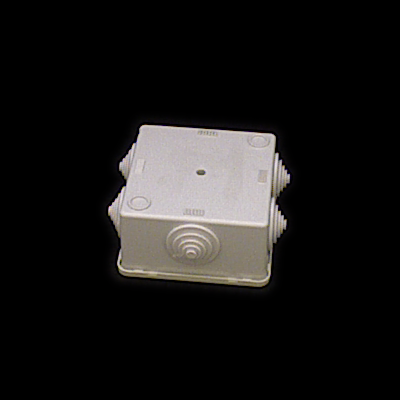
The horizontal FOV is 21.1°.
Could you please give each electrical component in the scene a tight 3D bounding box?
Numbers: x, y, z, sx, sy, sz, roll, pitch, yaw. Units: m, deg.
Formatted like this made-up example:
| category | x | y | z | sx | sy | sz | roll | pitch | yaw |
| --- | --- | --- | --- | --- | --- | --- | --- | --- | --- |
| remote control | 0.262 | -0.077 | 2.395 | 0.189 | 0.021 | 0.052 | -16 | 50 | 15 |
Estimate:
| category | x | y | z | sx | sy | sz | roll | pitch | yaw |
| --- | --- | --- | --- | --- | --- | --- | --- | --- | --- |
| electrical component | 0.000 | 0.000 | 0.635 | 0.100 | 0.049 | 0.099 | 5 | 42 | 4 |
